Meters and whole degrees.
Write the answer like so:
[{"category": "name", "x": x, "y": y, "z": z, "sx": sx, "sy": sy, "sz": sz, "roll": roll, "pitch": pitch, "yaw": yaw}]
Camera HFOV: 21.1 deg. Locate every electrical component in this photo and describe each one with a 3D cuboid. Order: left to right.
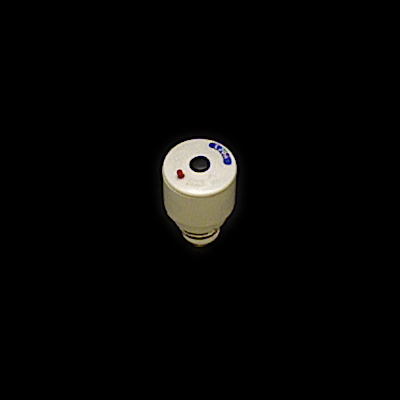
[{"category": "electrical component", "x": 0.000, "y": 0.000, "z": 0.620, "sx": 0.040, "sy": 0.040, "sz": 0.078, "roll": 0, "pitch": -37, "yaw": 0}]
